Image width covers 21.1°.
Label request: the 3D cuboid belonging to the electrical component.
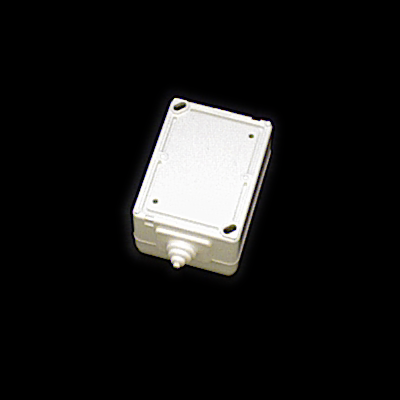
[{"bbox_3d":[-0.001,0.000,0.622,0.062,0.097,0.060,14,-27,7],"label":"electrical component"}]
